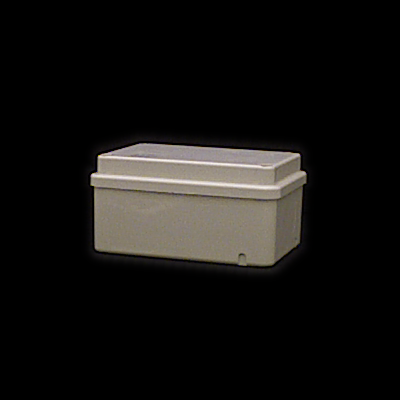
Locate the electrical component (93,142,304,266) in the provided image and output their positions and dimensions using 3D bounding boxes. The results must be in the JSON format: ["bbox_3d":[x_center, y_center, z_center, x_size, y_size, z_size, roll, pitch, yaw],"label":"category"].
[{"bbox_3d":[0.000,0.000,0.641,0.113,0.057,0.078,5,11,17],"label":"electrical component"}]
